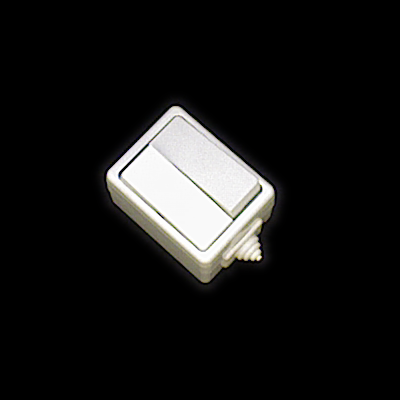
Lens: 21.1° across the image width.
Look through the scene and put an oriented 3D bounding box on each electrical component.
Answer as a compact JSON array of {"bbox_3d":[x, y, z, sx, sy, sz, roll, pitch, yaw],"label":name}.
[{"bbox_3d":[0.000,0.000,0.625,0.096,0.062,0.060,42,-12,12],"label":"electrical component"}]
